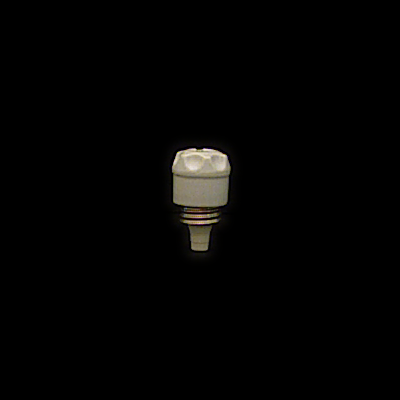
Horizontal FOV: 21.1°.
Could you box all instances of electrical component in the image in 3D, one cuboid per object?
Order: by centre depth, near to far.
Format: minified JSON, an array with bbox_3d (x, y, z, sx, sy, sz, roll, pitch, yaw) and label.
[{"bbox_3d":[0.000,0.000,0.653,0.035,0.062,0.035,1,12,0],"label":"electrical component"}]
